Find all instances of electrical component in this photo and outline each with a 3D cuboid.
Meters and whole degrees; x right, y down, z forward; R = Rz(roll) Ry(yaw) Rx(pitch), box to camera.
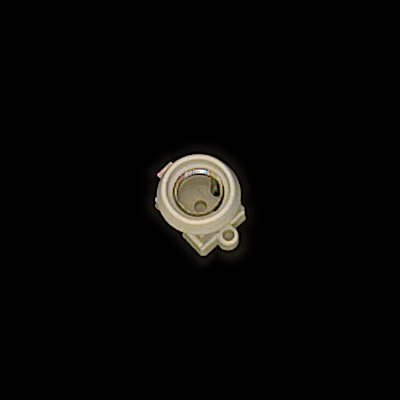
[{"bbox_3d":[0.000,0.000,0.637,0.049,0.066,0.055,-43,-12,-13],"label":"electrical component"}]
